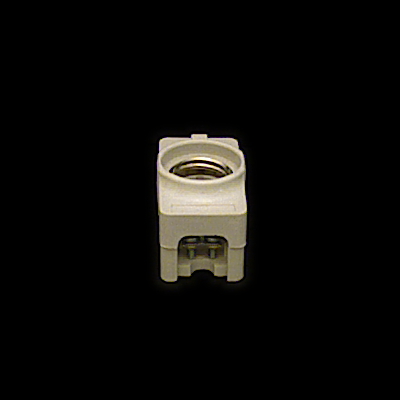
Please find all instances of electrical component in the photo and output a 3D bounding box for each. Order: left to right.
[{"bbox_3d":[0.000,0.000,0.643,0.050,0.056,0.088,-1,32,-3],"label":"electrical component"}]
